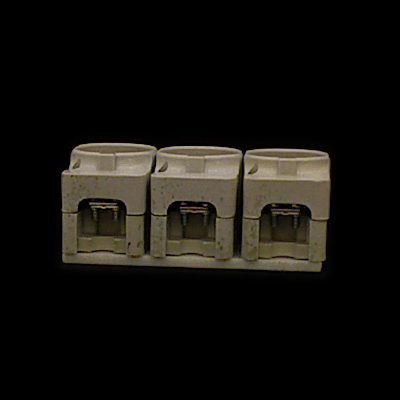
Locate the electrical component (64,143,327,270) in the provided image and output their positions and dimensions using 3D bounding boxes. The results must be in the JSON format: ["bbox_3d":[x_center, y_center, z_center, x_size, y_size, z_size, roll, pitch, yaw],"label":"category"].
[{"bbox_3d":[0.000,0.000,0.649,0.150,0.062,0.088,2,11,5],"label":"electrical component"}]
